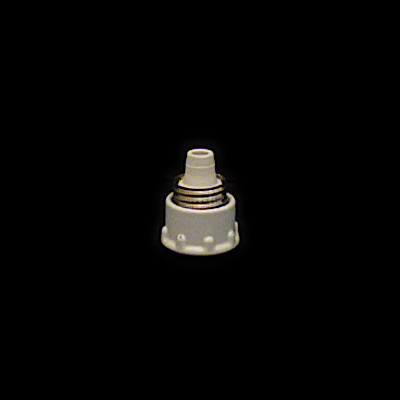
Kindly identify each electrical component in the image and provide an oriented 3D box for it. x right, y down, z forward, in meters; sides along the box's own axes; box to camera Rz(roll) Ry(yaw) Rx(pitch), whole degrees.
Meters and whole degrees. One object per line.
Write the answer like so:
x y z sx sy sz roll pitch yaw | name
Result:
0.000 0.000 0.646 0.048 0.063 0.047 1 21 0 | electrical component
